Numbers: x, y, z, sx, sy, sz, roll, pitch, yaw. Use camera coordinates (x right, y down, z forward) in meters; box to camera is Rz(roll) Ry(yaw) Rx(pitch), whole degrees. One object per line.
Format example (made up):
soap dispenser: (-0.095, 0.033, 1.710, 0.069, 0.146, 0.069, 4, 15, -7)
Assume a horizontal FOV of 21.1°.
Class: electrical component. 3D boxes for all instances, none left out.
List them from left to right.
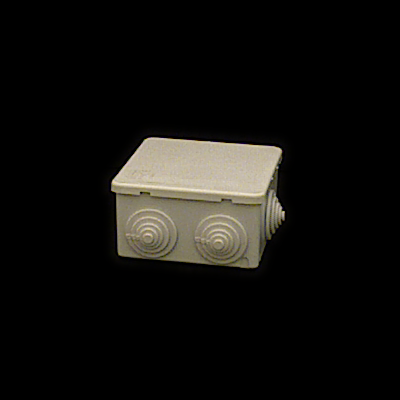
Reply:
electrical component: (0.000, 0.000, 0.646, 0.099, 0.049, 0.099, 5, 22, 9)
